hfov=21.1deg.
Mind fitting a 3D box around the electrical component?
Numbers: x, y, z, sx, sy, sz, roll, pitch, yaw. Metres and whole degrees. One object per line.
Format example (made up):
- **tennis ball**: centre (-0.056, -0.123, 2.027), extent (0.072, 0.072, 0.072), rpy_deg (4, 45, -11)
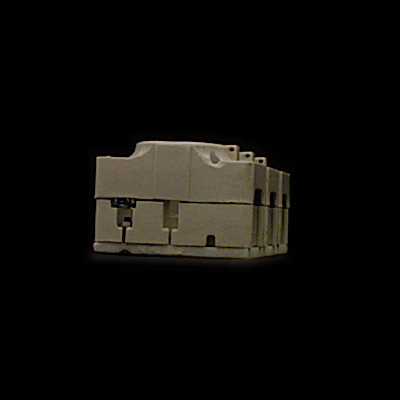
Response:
- **electrical component**: centre (0.000, 0.000, 0.657), extent (0.089, 0.062, 0.150), rpy_deg (2, 0, 12)
